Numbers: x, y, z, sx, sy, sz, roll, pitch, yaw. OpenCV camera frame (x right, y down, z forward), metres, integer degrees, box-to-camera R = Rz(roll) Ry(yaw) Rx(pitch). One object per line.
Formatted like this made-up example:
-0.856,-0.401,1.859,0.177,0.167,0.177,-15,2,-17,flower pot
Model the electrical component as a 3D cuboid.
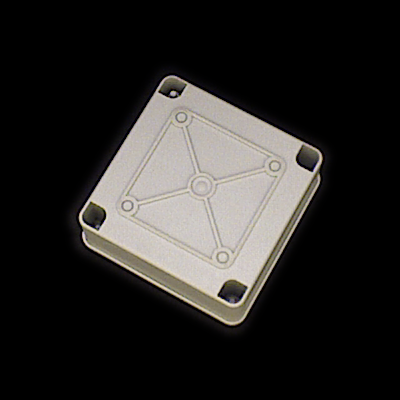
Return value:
0.000,0.000,0.628,0.108,0.109,0.056,28,-16,9,electrical component
